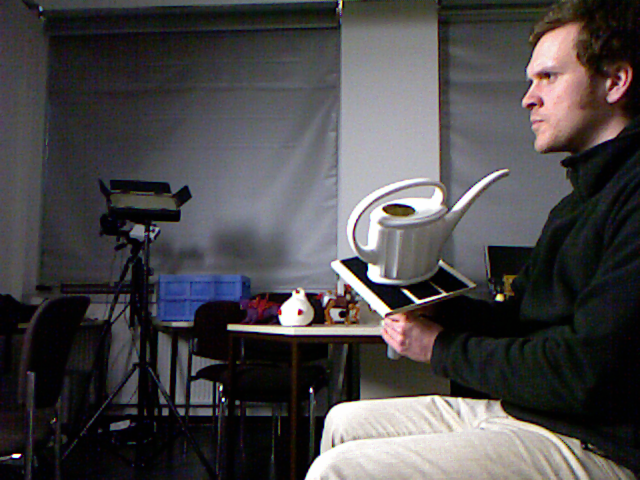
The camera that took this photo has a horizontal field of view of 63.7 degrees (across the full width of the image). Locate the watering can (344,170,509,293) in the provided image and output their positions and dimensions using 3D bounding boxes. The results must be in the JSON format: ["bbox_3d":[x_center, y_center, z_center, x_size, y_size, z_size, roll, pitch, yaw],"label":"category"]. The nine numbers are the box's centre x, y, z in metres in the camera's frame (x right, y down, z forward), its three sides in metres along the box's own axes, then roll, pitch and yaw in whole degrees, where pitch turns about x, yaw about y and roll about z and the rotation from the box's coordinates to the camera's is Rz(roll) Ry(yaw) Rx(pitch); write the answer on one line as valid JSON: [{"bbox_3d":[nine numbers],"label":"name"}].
[{"bbox_3d":[0.204,-0.020,0.979,0.350,0.220,0.106,-12,34,-20],"label":"watering can"}]
